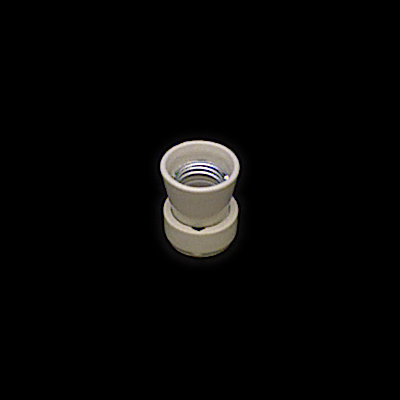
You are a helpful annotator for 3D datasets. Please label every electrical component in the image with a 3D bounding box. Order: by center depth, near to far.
[{"bbox_3d":[0.000,0.000,0.631,0.045,0.055,0.044,0,42,0],"label":"electrical component"}]
